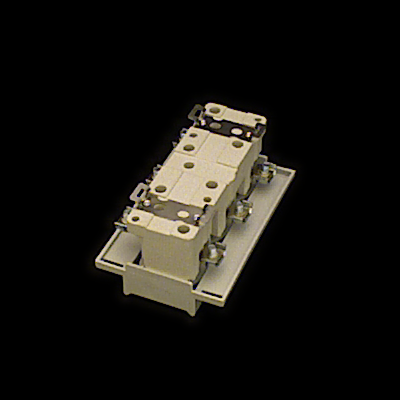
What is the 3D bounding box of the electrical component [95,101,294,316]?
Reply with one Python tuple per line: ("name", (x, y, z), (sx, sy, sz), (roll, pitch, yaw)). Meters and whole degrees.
("electrical component", (0.000, 0.000, 0.637), (0.078, 0.063, 0.120), (16, 45, 16))
